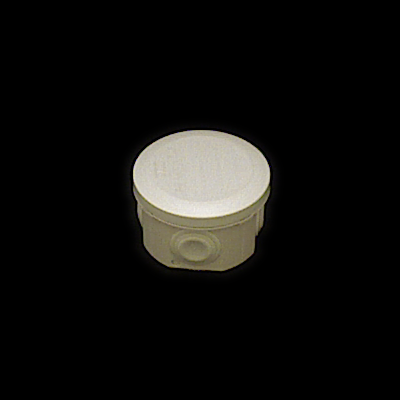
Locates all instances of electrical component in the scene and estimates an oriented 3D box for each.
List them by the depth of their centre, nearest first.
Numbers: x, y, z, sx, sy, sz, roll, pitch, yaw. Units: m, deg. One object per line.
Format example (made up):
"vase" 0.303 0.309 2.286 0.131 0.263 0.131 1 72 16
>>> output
"electrical component" 0.000 0.000 0.635 0.080 0.051 0.079 1 41 0
